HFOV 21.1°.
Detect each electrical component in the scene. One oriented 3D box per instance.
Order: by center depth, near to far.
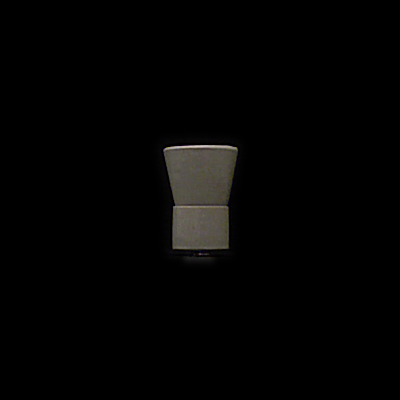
[{"bbox_3d":[0.000,0.000,0.650,0.044,0.065,0.044,0,1,0],"label":"electrical component"}]
